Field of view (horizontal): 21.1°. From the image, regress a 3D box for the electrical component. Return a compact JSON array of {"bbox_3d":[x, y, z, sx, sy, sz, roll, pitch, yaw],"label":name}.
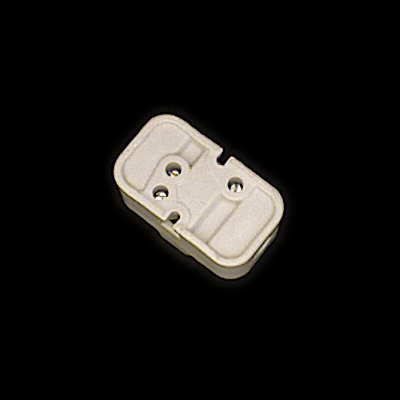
[{"bbox_3d":[0.000,0.000,0.635,0.095,0.054,0.059,37,-12,9],"label":"electrical component"}]
